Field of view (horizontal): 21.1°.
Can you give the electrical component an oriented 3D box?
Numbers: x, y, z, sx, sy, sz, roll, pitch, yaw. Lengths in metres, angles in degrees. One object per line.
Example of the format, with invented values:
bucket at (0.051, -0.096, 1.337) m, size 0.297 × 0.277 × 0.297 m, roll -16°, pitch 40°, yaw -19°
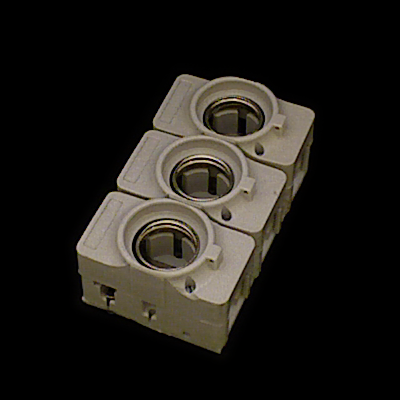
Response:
electrical component at (0.000, 0.000, 0.633) m, size 0.089 × 0.148 × 0.062 m, roll 18°, pitch -35°, yaw 13°
